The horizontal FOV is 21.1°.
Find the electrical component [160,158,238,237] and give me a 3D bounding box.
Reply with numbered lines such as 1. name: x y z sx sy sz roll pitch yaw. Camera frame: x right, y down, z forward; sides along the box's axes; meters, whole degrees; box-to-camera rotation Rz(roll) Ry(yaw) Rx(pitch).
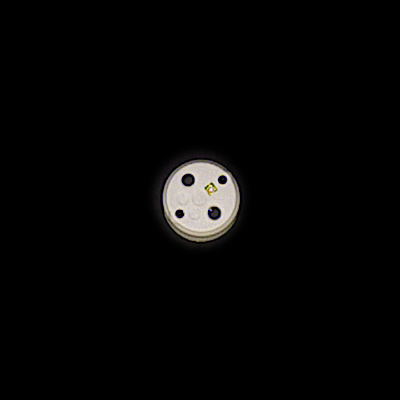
1. electrical component: 0.000 0.000 0.629 0.045 0.045 0.055 0 -6 1
